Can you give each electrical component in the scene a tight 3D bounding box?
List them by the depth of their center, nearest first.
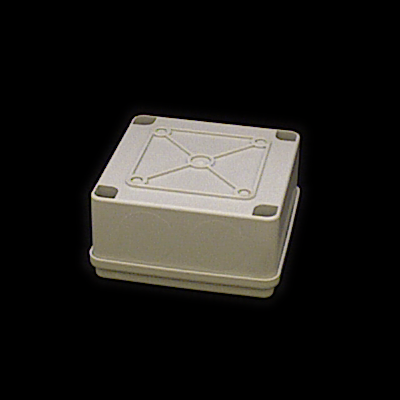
[{"bbox_3d":[0.000,0.000,0.634,0.108,0.057,0.107,7,33,9],"label":"electrical component"}]
